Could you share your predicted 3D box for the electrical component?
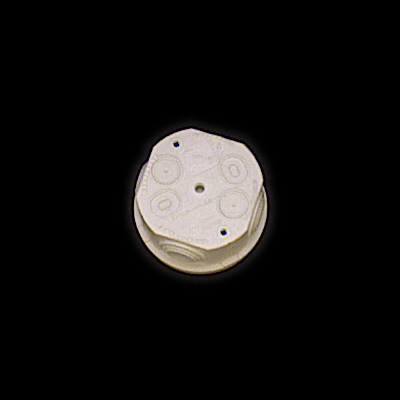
[{"bbox_3d":[0.000,0.000,0.632,0.080,0.080,0.050,0,-18,0],"label":"electrical component"}]
